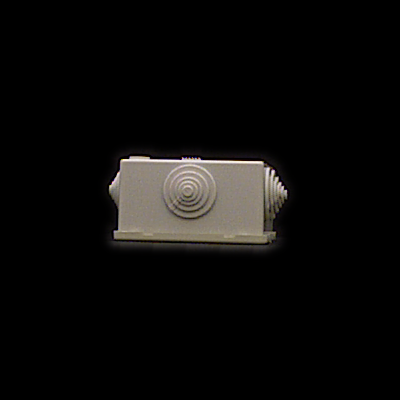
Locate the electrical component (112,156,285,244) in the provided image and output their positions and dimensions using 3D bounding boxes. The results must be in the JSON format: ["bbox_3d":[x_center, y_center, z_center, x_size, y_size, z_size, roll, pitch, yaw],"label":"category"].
[{"bbox_3d":[0.000,0.000,0.651,0.099,0.048,0.100,1,0,8],"label":"electrical component"}]
